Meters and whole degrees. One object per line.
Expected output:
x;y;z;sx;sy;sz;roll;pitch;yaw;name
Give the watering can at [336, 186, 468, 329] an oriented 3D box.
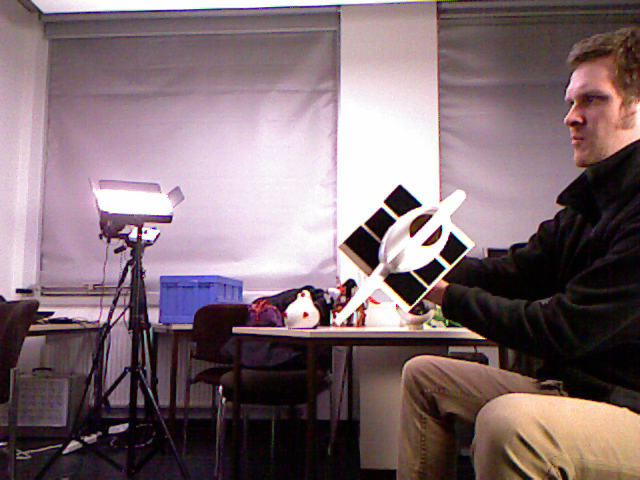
0.151;0.025;1.004;0.349;0.104;0.225;-45;-1;-1;watering can
